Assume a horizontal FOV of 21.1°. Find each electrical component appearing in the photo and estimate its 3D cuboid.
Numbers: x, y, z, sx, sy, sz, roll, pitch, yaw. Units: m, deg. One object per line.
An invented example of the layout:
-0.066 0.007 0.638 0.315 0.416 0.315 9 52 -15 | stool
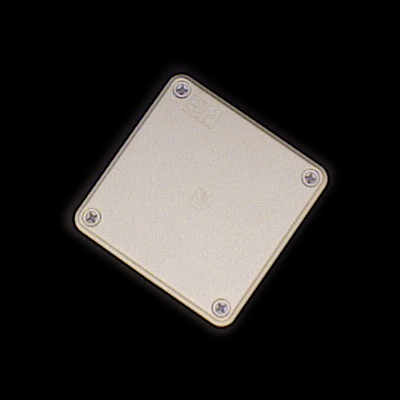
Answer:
0.000 0.000 0.630 0.109 0.109 0.056 35 -5 4 | electrical component
